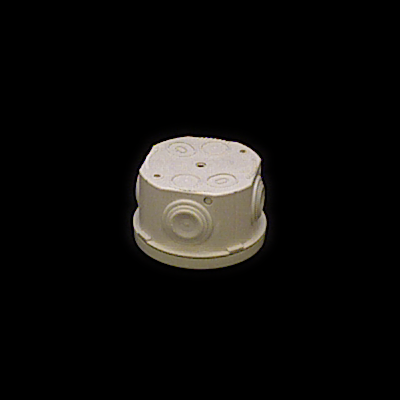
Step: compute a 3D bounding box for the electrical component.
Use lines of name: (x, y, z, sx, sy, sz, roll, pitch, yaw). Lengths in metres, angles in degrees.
electrical component: (0.000, 0.000, 0.638, 0.080, 0.051, 0.079, 1, 31, -1)
